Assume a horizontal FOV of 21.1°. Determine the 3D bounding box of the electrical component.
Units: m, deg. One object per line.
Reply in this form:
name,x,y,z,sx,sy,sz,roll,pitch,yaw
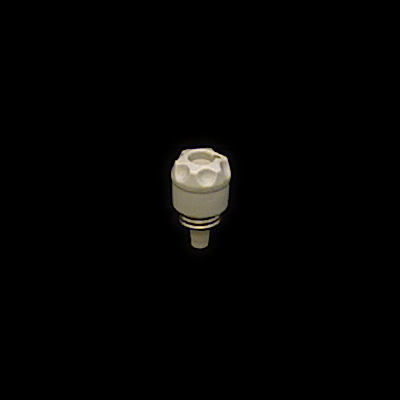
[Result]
electrical component,0.000,0.000,0.641,0.035,0.062,0.034,1,33,0
